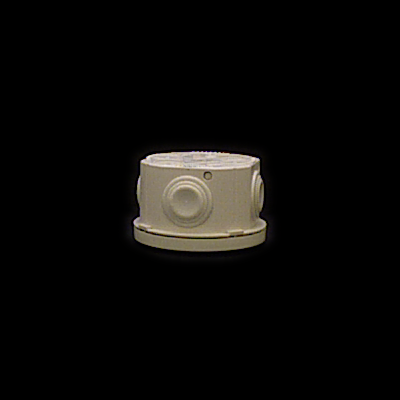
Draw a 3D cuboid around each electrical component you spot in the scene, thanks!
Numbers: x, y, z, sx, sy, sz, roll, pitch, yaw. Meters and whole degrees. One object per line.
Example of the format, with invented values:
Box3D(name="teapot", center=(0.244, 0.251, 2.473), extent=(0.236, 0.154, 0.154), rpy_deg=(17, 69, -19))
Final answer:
Box3D(name="electrical component", center=(0.000, 0.000, 0.646), extent=(0.080, 0.051, 0.079), rpy_deg=(1, 10, 0))
